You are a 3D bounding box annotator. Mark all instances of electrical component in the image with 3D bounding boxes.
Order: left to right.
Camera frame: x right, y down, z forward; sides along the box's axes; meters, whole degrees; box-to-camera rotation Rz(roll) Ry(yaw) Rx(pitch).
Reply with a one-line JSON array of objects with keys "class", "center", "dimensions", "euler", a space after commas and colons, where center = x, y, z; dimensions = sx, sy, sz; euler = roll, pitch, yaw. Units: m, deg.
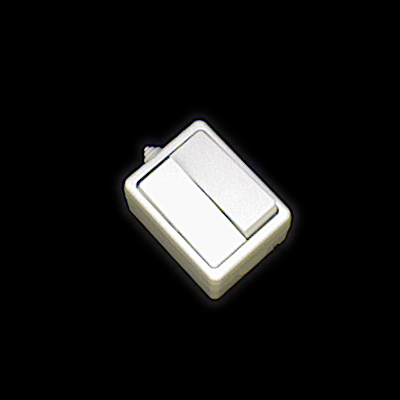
[{"class": "electrical component", "center": [0.000, 0.000, 0.627], "dimensions": [0.062, 0.096, 0.060], "euler": [-41, -13, -11]}]
